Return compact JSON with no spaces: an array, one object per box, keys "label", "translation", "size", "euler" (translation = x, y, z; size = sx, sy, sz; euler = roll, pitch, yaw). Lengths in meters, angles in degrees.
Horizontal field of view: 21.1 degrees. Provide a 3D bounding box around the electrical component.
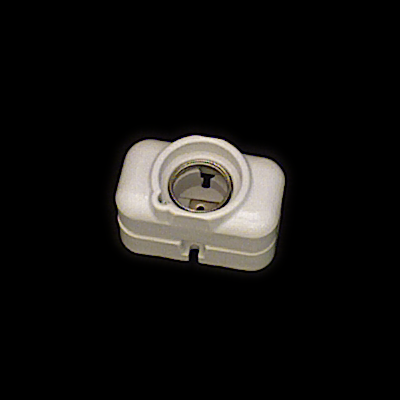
[{"label":"electrical component","translation":[0.000,0.000,0.633],"size":[0.095,0.054,0.059],"euler":[9,-27,5]}]
